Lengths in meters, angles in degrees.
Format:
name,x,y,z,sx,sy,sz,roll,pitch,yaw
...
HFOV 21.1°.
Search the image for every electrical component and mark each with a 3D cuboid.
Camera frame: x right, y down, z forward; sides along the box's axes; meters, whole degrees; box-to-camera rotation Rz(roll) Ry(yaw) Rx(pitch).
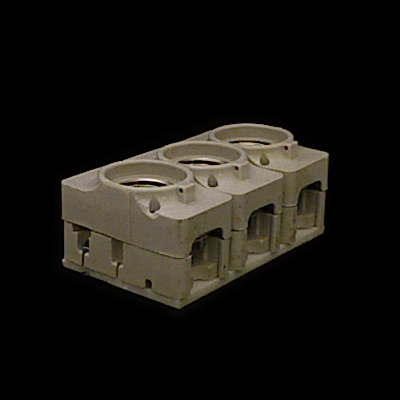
name,x,y,z,sx,sy,sz,roll,pitch,yaw
electrical component,0.000,0.000,0.645,0.089,0.063,0.148,16,26,34
